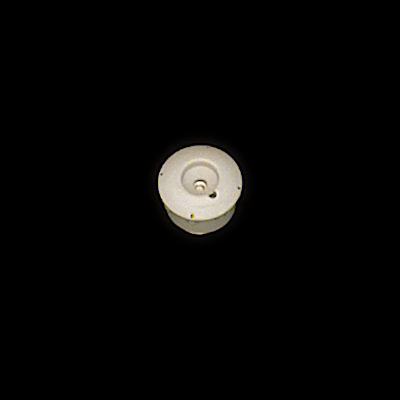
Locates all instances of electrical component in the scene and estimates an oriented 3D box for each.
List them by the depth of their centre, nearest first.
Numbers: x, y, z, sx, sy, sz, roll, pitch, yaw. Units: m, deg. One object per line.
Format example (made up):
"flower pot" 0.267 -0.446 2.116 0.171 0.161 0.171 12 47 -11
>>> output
"electrical component" 0.000 0.000 0.634 0.048 0.048 0.062 0 -27 0
